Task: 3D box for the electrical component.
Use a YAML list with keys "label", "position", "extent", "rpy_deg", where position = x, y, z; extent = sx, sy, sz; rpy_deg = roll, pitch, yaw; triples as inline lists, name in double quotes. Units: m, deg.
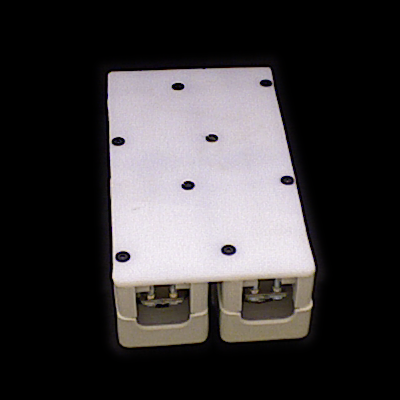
- label: "electrical component"
  position: [0.000, 0.000, 0.630]
  extent: [0.105, 0.061, 0.184]
  rpy_deg: [-3, 42, -4]
